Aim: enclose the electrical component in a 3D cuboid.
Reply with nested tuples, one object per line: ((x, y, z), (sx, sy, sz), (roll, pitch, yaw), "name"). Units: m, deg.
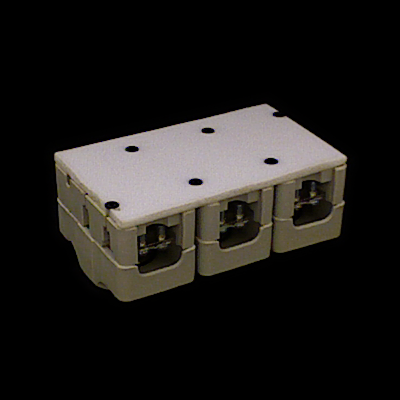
((0.000, 0.000, 0.643), (0.149, 0.063, 0.088), (-15, 35, -26), "electrical component")
